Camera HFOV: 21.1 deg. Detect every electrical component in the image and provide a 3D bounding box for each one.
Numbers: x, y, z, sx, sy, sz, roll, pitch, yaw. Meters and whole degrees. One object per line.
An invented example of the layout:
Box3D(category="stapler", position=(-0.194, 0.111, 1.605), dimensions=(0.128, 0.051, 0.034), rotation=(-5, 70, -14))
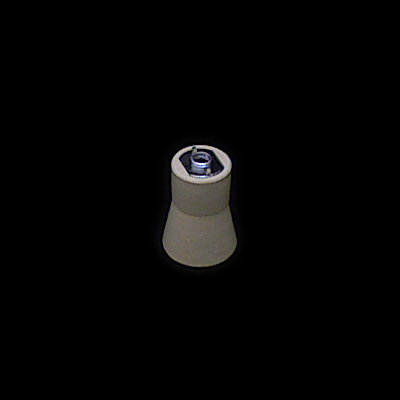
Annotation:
Box3D(category="electrical component", position=(0.000, 0.000, 0.629), dimensions=(0.044, 0.066, 0.044), rotation=(1, 41, -1))
